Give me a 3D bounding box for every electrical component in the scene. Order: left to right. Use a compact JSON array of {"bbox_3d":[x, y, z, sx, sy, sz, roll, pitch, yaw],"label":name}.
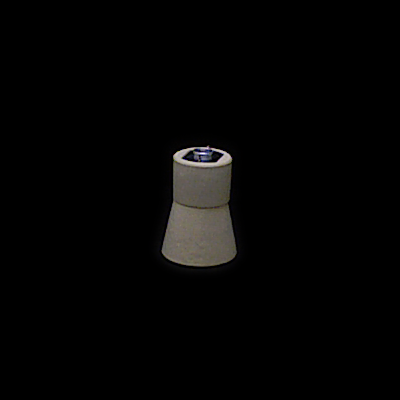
[{"bbox_3d":[0.000,0.000,0.637,0.044,0.066,0.044,2,21,-1],"label":"electrical component"}]
